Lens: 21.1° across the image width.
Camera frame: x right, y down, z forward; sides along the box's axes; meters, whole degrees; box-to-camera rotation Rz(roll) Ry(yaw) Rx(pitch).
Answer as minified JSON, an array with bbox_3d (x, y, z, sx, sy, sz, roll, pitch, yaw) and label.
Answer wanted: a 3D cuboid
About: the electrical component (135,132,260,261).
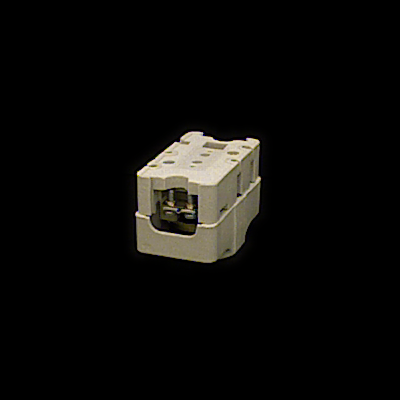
[{"bbox_3d":[0.000,0.000,0.647,0.050,0.056,0.089,8,22,18],"label":"electrical component"}]
